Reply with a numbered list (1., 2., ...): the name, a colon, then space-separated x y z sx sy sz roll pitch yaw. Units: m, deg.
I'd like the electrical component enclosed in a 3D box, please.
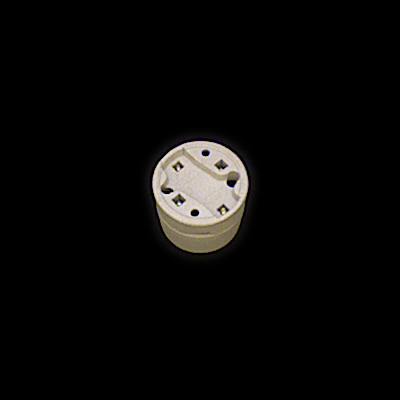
1. electrical component: 0.000 0.000 0.634 0.055 0.056 0.047 0 -27 -1
